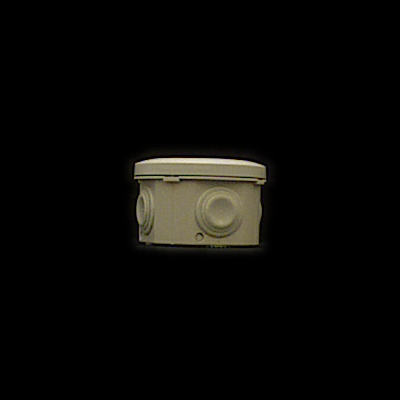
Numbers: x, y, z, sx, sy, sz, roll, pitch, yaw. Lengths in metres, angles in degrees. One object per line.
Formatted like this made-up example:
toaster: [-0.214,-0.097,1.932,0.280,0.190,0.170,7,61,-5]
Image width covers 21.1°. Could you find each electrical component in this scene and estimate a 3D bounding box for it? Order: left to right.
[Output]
electrical component: [0.000,0.000,0.651,0.080,0.051,0.080,1,0,0]
